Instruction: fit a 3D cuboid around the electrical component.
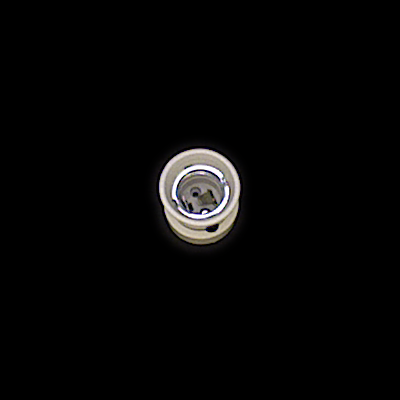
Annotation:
[{"bbox_3d":[0.000,0.000,0.627,0.045,0.045,0.055,0,-17,1],"label":"electrical component"}]
